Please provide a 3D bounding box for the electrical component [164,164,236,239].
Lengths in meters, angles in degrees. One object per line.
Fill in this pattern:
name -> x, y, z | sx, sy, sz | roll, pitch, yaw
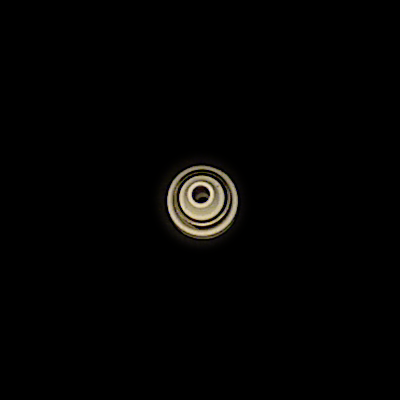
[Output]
electrical component -> 0.000, 0.000, 0.635 | 0.043, 0.043, 0.062 | 0, -6, 1
